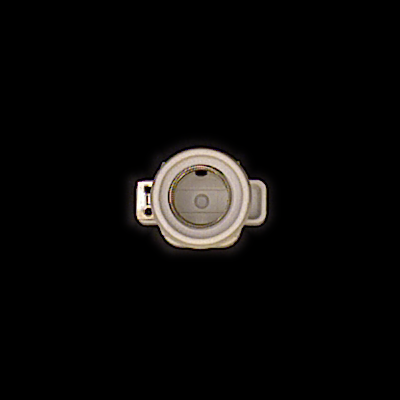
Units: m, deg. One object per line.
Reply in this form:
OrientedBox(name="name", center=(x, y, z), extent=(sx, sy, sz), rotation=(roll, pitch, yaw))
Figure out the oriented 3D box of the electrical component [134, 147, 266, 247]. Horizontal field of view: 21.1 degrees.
OrientedBox(name="electrical component", center=(0.000, 0.000, 0.630), extent=(0.078, 0.058, 0.056), rotation=(0, -6, 0))
